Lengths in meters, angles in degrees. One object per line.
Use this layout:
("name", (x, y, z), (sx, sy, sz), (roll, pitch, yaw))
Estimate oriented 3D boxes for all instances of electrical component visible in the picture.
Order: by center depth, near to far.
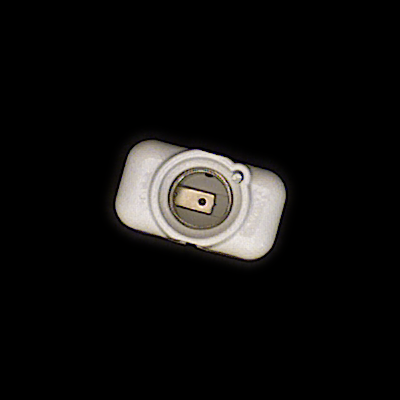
("electrical component", (0.000, 0.000, 0.635), (0.095, 0.054, 0.059), (14, -5, 2))
